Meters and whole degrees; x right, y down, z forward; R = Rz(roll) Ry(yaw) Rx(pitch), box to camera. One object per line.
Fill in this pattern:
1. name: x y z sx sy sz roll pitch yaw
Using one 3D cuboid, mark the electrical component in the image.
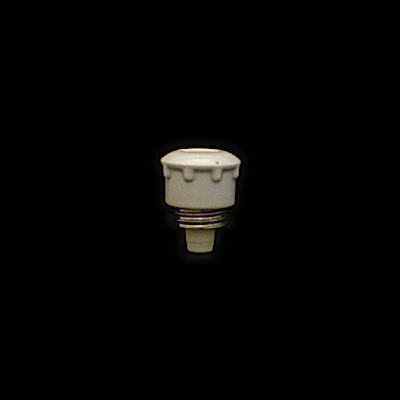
1. electrical component: 0.000 0.000 0.649 0.048 0.062 0.048 1 11 0
